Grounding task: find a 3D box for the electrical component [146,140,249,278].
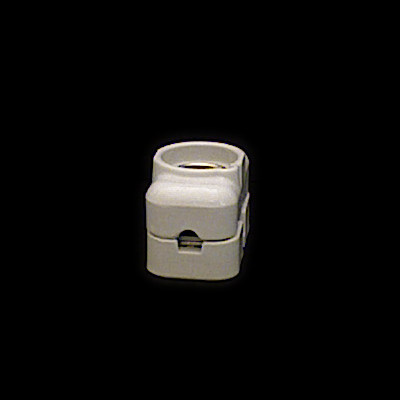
[{"bbox_3d":[0.000,0.000,0.645,0.053,0.060,0.094,3,22,6],"label":"electrical component"}]
